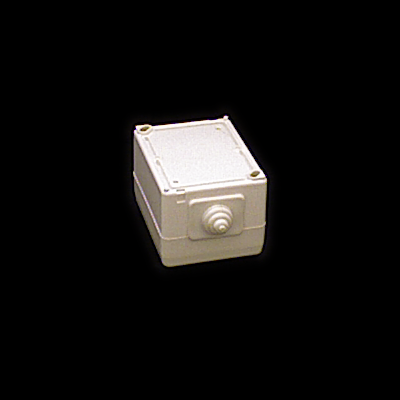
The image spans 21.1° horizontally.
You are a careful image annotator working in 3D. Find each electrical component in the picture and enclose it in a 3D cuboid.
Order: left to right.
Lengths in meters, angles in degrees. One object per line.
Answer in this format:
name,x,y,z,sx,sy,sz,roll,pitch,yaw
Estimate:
electrical component,0.000,0.000,0.633,0.062,0.061,0.095,-7,33,-13
